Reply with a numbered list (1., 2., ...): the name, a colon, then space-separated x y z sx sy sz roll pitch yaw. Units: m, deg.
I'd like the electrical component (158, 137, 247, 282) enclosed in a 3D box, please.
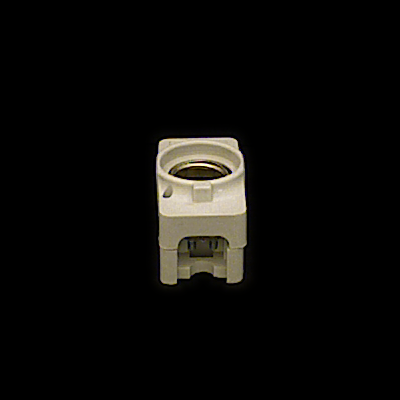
1. electrical component: 0.000 0.000 0.642 0.050 0.056 0.088 -1 32 -3
